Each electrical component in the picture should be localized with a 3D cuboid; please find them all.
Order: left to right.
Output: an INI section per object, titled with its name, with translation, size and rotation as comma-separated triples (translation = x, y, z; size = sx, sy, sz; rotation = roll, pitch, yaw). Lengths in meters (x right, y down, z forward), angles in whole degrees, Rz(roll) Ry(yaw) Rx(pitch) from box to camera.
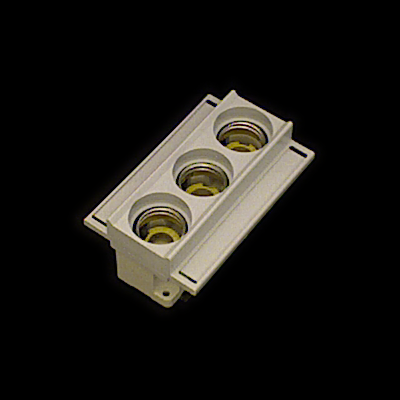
[electrical component]
translation = 0.000, 0.000, 0.639
size = 0.078, 0.121, 0.063
rotation = 31, -31, 20
